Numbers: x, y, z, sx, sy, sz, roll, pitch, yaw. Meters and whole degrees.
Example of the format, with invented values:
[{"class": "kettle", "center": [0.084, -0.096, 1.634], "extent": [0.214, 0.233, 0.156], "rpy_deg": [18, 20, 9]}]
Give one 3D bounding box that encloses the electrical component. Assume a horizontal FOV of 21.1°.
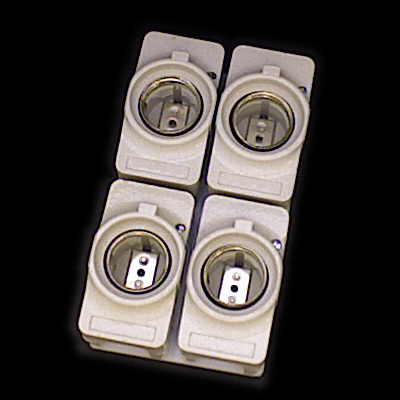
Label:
[{"class": "electrical component", "center": [0.000, 0.000, 0.625], "extent": [0.105, 0.187, 0.060], "rpy_deg": [10, -17, 3]}]
